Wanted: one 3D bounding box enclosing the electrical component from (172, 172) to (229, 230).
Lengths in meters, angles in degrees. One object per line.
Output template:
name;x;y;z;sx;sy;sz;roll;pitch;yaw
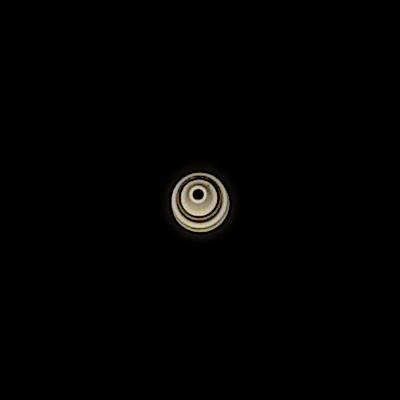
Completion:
electrical component;0.000;0.000;0.637;0.035;0.035;0.061;0;-7;1
